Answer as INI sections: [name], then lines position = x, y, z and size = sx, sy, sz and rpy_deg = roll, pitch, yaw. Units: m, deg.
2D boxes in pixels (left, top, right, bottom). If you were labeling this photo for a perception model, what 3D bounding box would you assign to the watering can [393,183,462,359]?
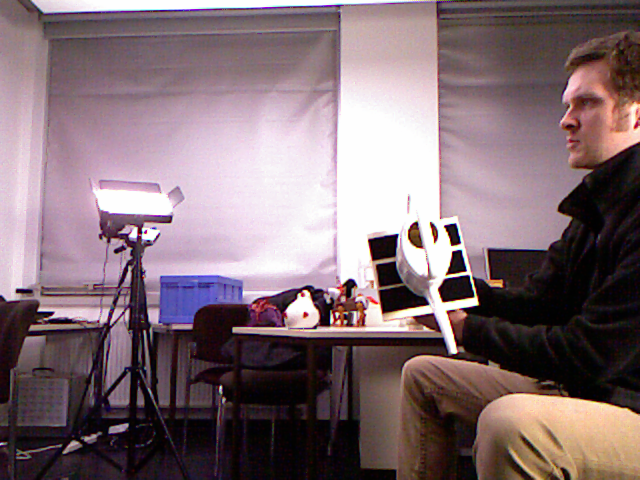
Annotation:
[watering can]
position = 0.212, 0.061, 1.034
size = 0.104, 0.353, 0.222
rpy_deg = -9, -16, 2
